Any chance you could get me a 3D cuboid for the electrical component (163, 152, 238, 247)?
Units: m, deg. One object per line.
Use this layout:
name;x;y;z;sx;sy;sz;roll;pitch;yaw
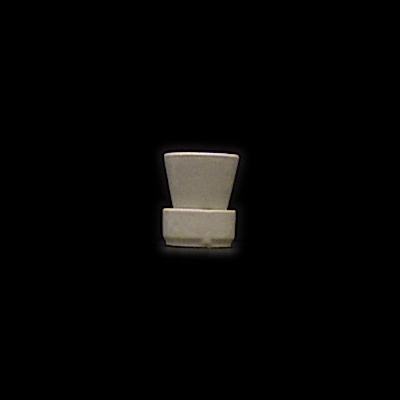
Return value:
electrical component;0.000;0.000;0.651;0.045;0.055;0.045;2;1;0
